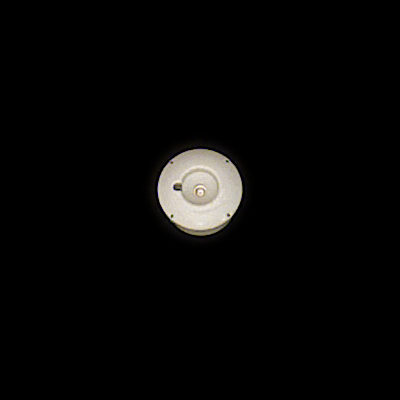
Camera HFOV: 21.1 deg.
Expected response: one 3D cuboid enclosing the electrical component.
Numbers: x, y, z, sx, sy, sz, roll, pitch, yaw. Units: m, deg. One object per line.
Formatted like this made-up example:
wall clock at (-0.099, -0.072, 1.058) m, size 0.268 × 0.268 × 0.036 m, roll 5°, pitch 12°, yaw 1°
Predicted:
electrical component at (0.000, 0.000, 0.632) m, size 0.048 × 0.048 × 0.061 m, roll 0°, pitch -16°, yaw 1°
